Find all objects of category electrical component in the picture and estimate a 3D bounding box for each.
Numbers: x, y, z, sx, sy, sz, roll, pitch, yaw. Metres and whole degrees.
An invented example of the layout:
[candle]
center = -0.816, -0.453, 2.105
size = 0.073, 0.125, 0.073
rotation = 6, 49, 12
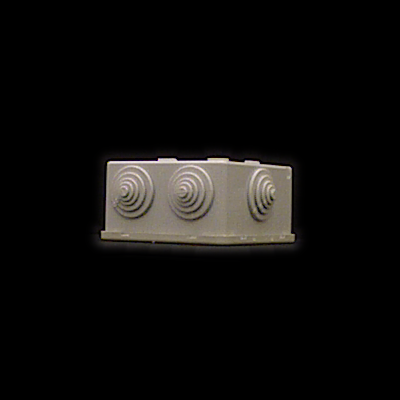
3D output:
[electrical component]
center = 0.000, 0.000, 0.650
size = 0.099, 0.048, 0.100
rotation = 1, 0, 32
